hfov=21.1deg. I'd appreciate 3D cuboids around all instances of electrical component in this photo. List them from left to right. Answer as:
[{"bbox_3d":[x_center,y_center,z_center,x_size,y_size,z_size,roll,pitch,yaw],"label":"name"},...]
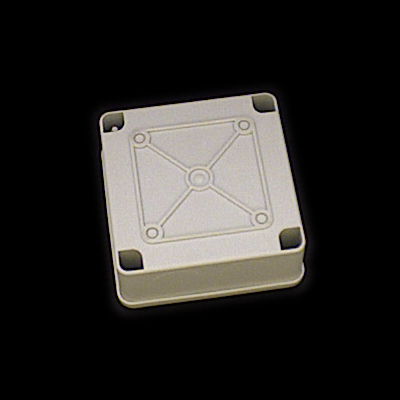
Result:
[{"bbox_3d":[0.000,0.000,0.628,0.109,0.108,0.056,-7,-27,-4],"label":"electrical component"}]
